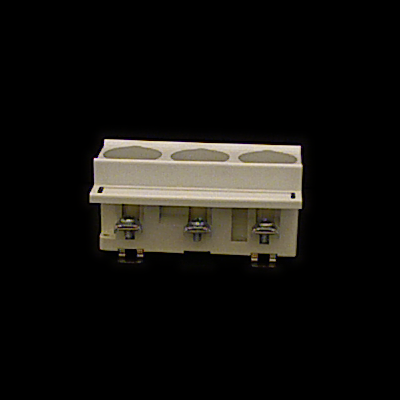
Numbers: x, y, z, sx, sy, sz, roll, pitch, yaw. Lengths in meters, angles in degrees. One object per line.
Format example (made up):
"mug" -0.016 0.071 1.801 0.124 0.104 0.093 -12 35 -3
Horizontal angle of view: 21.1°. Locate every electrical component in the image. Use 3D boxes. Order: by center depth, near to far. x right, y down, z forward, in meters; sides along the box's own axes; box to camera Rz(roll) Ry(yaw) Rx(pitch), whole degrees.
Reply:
"electrical component" 0.000 0.000 0.652 0.121 0.064 0.077 2 20 3
